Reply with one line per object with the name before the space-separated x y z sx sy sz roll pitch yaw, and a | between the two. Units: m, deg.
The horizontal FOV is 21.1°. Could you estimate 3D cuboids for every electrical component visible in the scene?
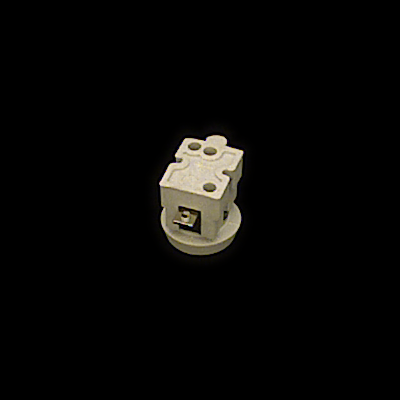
electrical component | 0.000 0.000 0.641 0.048 0.056 0.066 15 45 13
